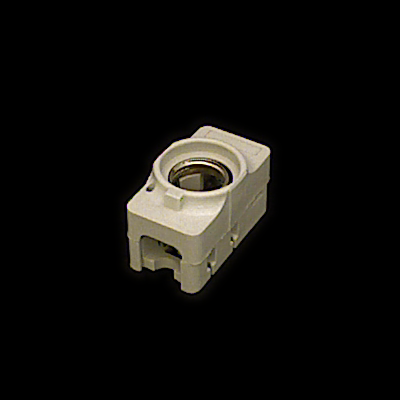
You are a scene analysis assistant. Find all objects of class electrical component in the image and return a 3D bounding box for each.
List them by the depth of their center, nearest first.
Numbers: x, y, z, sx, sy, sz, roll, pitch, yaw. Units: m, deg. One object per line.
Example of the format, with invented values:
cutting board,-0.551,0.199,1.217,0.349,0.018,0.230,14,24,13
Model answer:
electrical component,0.000,0.000,0.639,0.050,0.056,0.089,22,46,22
